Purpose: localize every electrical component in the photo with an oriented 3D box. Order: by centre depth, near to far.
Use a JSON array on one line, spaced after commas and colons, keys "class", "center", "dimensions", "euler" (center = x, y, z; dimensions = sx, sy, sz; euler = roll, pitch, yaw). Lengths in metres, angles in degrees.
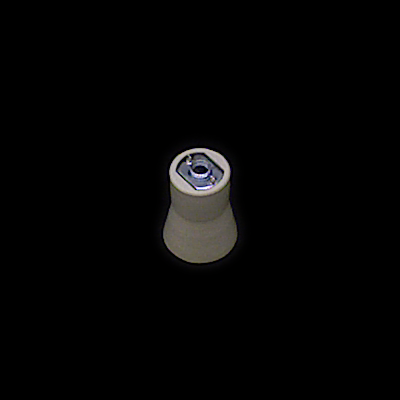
[{"class": "electrical component", "center": [0.000, 0.000, 0.626], "dimensions": [0.044, 0.044, 0.065], "euler": [0, -37, 0]}]
